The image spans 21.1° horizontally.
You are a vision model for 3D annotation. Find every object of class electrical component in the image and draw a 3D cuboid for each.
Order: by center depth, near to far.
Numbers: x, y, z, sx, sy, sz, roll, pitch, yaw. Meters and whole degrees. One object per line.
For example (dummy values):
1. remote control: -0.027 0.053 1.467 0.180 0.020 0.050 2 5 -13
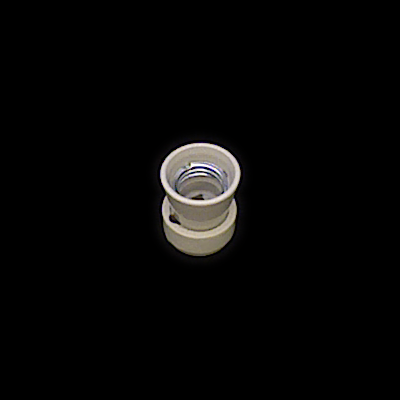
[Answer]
1. electrical component: 0.000 0.000 0.629 0.045 0.044 0.055 0 -37 0
